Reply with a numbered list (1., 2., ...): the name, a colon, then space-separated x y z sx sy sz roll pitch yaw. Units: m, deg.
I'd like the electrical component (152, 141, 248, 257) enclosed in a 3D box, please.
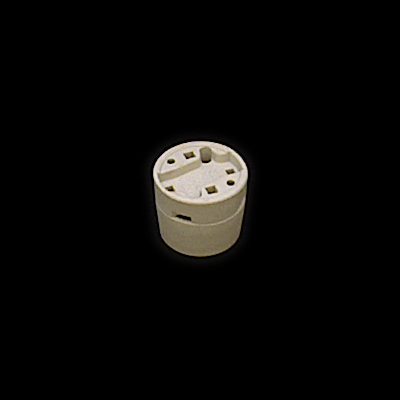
1. electrical component: 0.000 0.000 0.635 0.055 0.047 0.055 1 42 0
